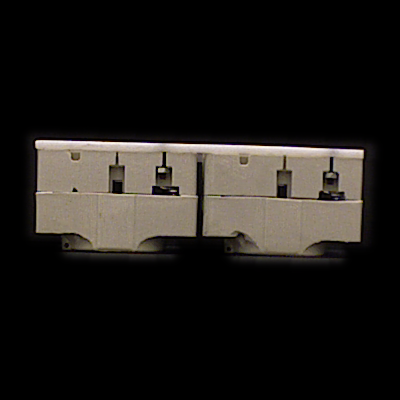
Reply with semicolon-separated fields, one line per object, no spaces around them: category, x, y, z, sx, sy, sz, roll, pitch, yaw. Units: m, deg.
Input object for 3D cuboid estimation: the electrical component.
electrical component;0.000;0.000;0.649;0.186;0.060;0.105;1;0;0
